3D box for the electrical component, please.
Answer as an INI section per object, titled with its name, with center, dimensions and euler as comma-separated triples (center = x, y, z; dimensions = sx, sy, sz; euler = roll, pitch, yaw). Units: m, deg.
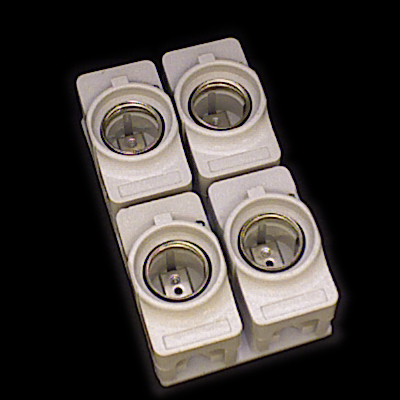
[electrical component]
center = 0.000, 0.000, 0.625
dimensions = 0.106, 0.186, 0.060
euler = -15, -26, -8
